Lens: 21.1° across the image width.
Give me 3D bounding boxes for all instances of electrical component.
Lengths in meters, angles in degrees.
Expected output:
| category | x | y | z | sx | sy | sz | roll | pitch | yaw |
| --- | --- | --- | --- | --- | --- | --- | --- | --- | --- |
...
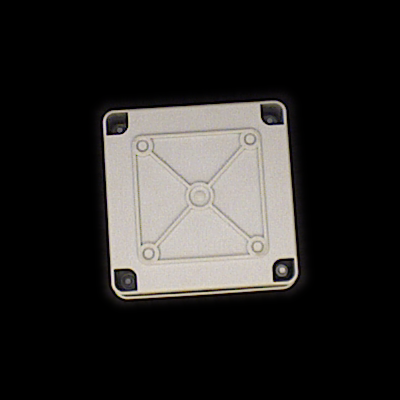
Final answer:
| category | x | y | z | sx | sy | sz | roll | pitch | yaw |
| --- | --- | --- | --- | --- | --- | --- | --- | --- | --- |
| electrical component | 0.000 | 0.000 | 0.628 | 0.109 | 0.109 | 0.056 | -4 | -6 | -1 |
